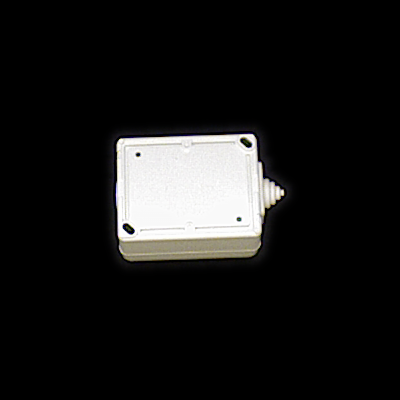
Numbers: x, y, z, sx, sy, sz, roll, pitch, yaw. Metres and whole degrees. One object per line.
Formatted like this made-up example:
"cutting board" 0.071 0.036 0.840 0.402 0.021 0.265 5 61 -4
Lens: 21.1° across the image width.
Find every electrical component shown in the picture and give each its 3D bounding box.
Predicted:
"electrical component" 0.000 0.000 0.627 0.096 0.062 0.060 -2 -18 -1
